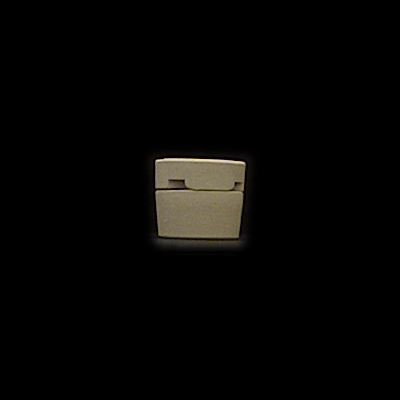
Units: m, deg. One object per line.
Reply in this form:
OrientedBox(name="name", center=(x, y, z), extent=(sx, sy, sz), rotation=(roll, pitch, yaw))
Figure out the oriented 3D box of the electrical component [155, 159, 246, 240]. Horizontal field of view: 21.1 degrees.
OrientedBox(name="electrical component", center=(0.000, 0.000, 0.651), extent=(0.055, 0.047, 0.055), rotation=(1, 1, 0))
